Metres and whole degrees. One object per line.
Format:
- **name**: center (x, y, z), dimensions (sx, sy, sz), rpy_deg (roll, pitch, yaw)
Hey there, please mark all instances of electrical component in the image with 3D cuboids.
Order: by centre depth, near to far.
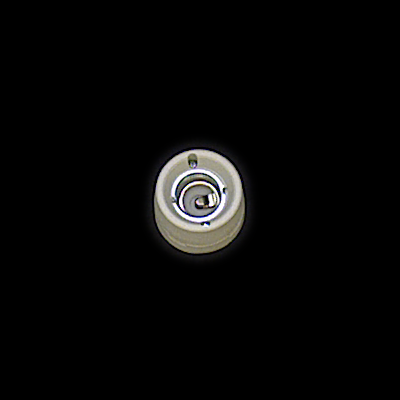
- **electrical component**: center (0.000, 0.000, 0.632), dimensions (0.055, 0.056, 0.047), rpy_deg (0, -16, 0)
